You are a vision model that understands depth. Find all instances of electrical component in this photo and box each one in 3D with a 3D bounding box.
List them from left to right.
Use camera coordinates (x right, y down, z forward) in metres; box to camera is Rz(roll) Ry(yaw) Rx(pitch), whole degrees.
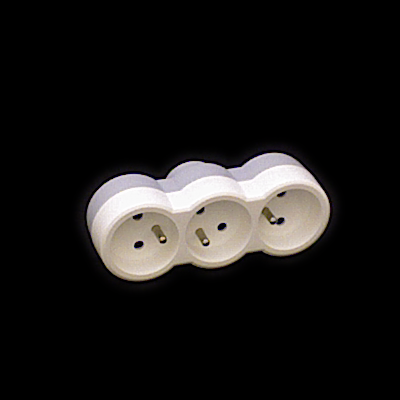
[{"bbox_3d":[0.000,0.000,0.635,0.138,0.053,0.073,-10,31,-15],"label":"electrical component"}]
